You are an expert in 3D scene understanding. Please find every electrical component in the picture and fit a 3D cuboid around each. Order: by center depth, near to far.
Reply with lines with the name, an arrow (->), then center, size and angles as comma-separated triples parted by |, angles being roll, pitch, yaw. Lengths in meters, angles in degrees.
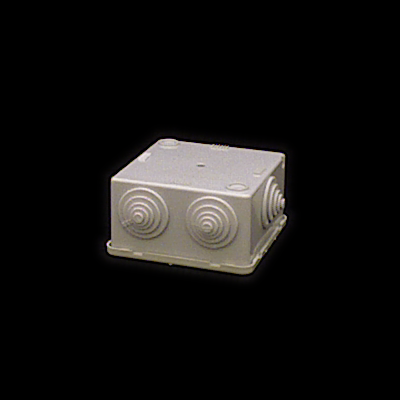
electrical component -> 0.000, 0.000, 0.641 | 0.099, 0.049, 0.099 | 8, 22, 16
